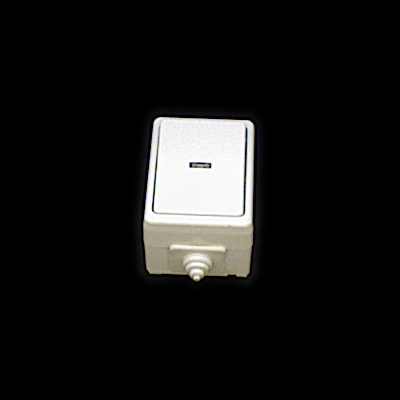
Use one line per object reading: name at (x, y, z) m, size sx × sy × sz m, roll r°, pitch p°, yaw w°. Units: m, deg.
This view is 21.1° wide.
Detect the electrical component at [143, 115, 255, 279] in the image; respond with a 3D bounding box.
electrical component at (0.000, 0.000, 0.626) m, size 0.062 × 0.096 × 0.061 m, roll 2°, pitch -38°, yaw 1°
